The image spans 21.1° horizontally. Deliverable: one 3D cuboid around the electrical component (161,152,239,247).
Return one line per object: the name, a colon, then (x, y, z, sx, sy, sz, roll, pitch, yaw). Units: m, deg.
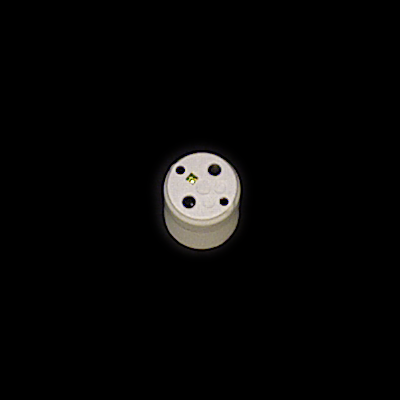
electrical component: (0.000, 0.000, 0.629, 0.045, 0.045, 0.055, 0, -16, 0)
